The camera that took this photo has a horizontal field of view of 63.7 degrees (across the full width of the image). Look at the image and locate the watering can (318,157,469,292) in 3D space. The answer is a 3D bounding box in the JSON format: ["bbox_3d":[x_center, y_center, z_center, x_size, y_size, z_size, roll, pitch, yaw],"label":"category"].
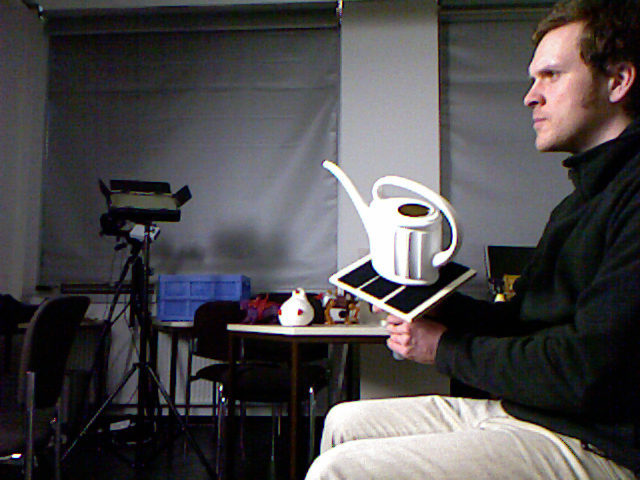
[{"bbox_3d":[0.130,-0.033,1.000,0.105,0.220,0.352,-28,40,-35],"label":"watering can"}]
